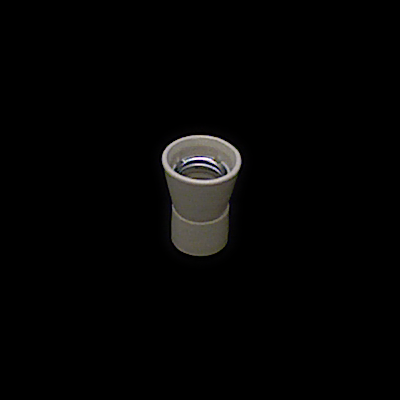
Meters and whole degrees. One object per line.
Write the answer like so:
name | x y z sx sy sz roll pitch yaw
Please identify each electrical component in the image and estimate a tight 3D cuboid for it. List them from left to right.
electrical component | 0.000 0.000 0.631 0.044 0.066 0.044 1 41 -1
